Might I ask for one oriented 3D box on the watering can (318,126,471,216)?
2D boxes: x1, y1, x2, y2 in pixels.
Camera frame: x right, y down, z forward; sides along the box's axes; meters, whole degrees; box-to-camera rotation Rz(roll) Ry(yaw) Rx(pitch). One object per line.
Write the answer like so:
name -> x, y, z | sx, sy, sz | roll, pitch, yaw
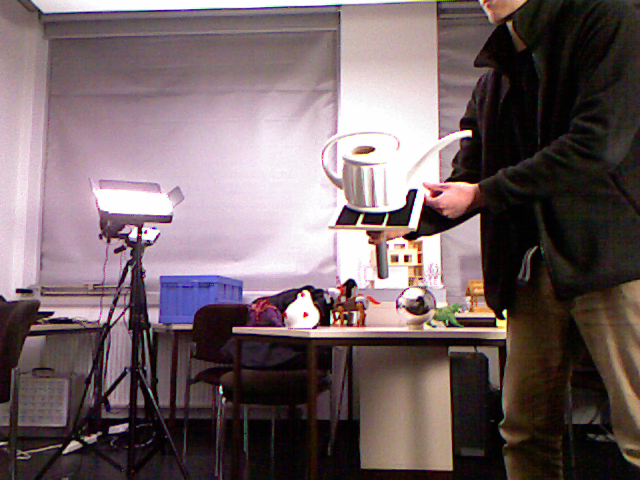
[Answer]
watering can -> 0.167, -0.160, 1.199 | 0.348, 0.219, 0.106 | 2, 35, 15
